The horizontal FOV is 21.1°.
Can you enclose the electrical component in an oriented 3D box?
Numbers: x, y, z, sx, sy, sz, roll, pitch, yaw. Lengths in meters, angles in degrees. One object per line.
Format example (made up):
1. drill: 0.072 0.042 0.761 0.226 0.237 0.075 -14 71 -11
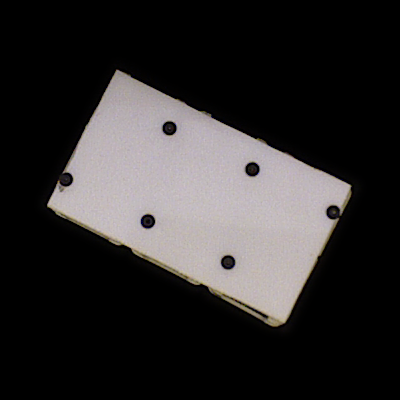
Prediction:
1. electrical component: 0.000 0.000 0.631 0.150 0.089 0.061 27 -5 2
